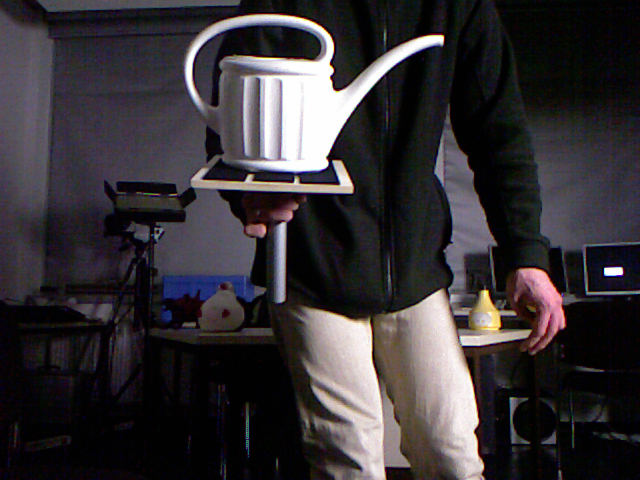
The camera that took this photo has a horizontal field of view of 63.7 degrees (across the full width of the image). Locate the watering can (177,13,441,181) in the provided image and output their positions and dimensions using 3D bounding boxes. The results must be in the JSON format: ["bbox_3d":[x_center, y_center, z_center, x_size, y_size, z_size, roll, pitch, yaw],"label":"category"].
[{"bbox_3d":[-0.017,-0.187,0.702,0.348,0.221,0.106,1,22,-2],"label":"watering can"}]
